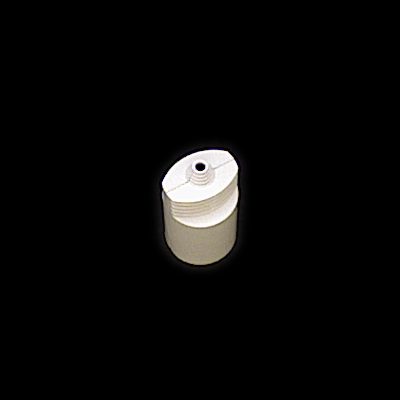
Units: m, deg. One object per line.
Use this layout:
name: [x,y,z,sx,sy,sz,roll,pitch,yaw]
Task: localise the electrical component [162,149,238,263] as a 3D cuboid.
electrical component: [0.000,0.000,0.617,0.043,0.043,0.081,0,-27,0]
